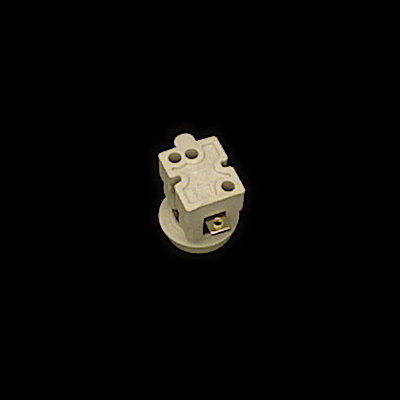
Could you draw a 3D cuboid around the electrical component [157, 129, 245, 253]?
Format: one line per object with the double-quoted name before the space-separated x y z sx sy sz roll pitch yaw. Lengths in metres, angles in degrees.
"electrical component" 0.000 0.000 0.638 0.049 0.066 0.055 -18 -34 -15
